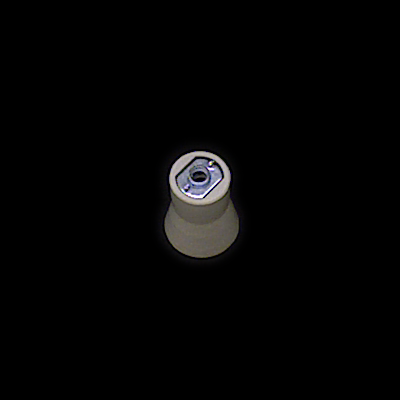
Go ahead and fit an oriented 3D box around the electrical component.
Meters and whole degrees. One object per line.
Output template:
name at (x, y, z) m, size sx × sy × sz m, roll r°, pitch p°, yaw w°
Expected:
electrical component at (0.000, 0.000, 0.625) m, size 0.044 × 0.044 × 0.065 m, roll 0°, pitch -28°, yaw 1°
